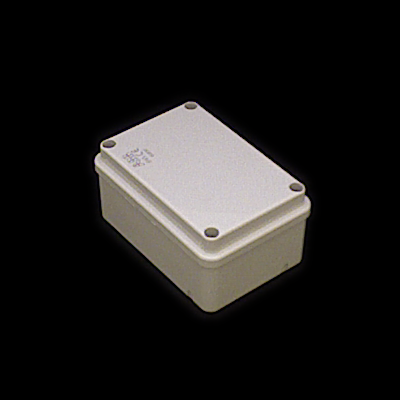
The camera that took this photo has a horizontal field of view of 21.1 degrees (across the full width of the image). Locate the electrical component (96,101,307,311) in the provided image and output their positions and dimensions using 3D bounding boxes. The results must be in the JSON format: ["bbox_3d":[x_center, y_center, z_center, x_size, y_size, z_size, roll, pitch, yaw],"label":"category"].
[{"bbox_3d":[0.000,0.000,0.630,0.078,0.057,0.112,-28,50,-28],"label":"electrical component"}]
